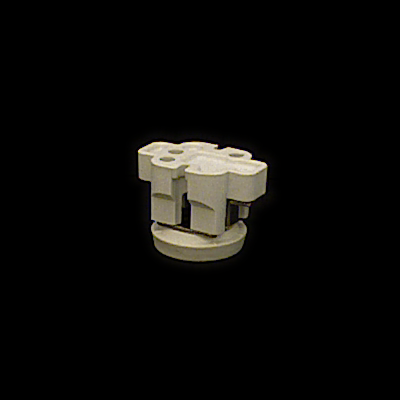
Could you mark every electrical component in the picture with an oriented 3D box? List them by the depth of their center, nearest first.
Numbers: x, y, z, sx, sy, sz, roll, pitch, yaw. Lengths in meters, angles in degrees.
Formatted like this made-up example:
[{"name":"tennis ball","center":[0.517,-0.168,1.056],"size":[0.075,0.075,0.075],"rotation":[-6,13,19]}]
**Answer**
[{"name":"electrical component","center":[0.000,0.000,0.647],"size":[0.078,0.057,0.057],"rotation":[13,24,25]}]
